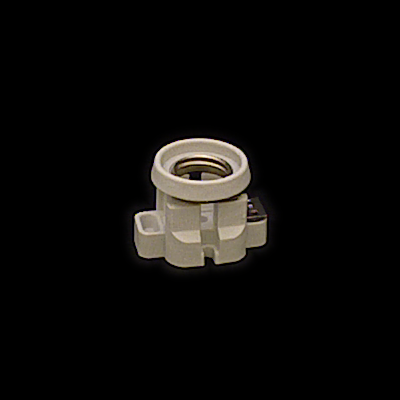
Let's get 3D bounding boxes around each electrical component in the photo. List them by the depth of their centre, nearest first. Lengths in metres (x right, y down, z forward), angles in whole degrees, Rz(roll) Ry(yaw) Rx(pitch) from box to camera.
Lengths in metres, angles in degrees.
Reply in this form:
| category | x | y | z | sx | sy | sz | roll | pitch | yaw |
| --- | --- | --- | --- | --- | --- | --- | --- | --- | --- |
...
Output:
| category | x | y | z | sx | sy | sz | roll | pitch | yaw |
| --- | --- | --- | --- | --- | --- | --- | --- | --- | --- |
| electrical component | 0.000 | 0.000 | 0.636 | 0.078 | 0.057 | 0.057 | -6 | 32 | -11 |
